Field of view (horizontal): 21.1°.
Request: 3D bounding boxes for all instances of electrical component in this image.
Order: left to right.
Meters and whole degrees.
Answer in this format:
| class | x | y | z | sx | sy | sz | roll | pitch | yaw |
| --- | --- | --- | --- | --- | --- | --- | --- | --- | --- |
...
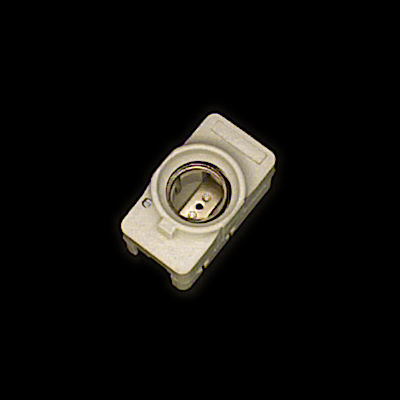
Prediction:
| class | x | y | z | sx | sy | sz | roll | pitch | yaw |
| --- | --- | --- | --- | --- | --- | --- | --- | --- | --- |
| electrical component | 0.000 | 0.000 | 0.636 | 0.050 | 0.090 | 0.055 | 36 | -13 | 10 |
